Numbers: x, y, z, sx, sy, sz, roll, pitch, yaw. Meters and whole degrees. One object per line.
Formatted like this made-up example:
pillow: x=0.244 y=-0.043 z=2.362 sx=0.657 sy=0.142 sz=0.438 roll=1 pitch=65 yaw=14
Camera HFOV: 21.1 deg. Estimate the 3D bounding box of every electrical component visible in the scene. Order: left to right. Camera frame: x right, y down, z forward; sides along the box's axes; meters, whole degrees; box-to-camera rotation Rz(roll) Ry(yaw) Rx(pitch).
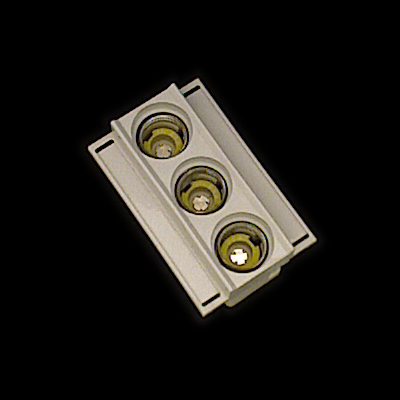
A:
electrical component: x=0.000 y=0.000 z=0.637 sx=0.079 sy=0.121 sz=0.063 roll=-33 pitch=-14 yaw=-10
